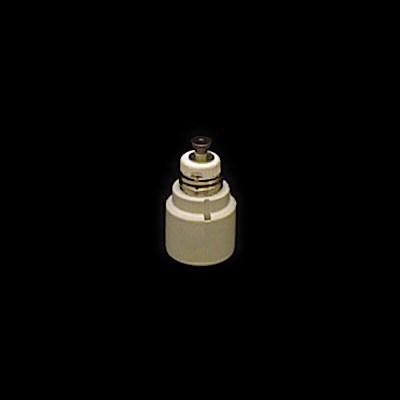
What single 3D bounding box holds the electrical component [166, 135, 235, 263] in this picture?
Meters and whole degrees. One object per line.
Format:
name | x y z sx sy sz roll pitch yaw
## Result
electrical component | 0.000 0.000 0.628 0.040 0.079 0.039 0 30 0
